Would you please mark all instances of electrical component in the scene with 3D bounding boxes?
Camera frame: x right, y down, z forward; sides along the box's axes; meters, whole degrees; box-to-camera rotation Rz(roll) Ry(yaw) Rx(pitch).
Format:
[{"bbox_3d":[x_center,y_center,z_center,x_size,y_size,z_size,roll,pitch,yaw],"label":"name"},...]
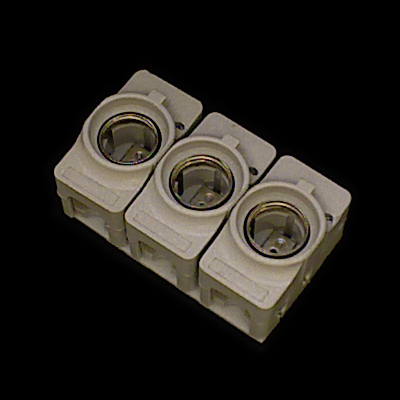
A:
[{"bbox_3d":[0.000,0.000,0.632,0.149,0.089,0.062,32,-23,15],"label":"electrical component"}]
